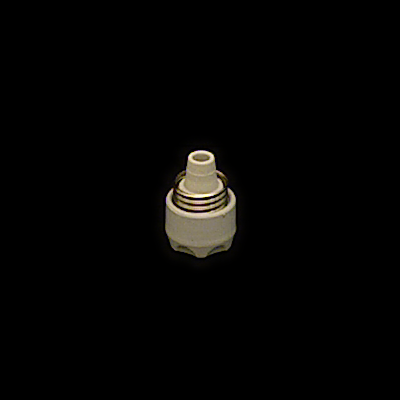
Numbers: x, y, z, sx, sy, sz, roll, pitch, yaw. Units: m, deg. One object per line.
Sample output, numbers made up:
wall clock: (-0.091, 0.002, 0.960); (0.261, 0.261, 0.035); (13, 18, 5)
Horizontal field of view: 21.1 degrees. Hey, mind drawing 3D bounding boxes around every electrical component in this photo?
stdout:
electrical component: (0.000, 0.000, 0.640); (0.043, 0.063, 0.043); (0, 34, 0)
